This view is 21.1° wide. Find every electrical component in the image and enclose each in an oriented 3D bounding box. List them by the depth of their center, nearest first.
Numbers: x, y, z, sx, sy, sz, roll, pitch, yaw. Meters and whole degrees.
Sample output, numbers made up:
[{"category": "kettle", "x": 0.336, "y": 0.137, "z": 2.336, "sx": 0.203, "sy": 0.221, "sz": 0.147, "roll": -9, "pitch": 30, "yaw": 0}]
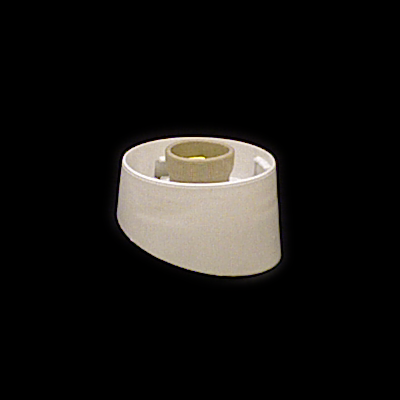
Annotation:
[{"category": "electrical component", "x": 0.000, "y": 0.000, "z": 0.638, "sx": 0.099, "sy": 0.065, "sz": 0.097, "roll": 2, "pitch": 21, "yaw": 0}]
